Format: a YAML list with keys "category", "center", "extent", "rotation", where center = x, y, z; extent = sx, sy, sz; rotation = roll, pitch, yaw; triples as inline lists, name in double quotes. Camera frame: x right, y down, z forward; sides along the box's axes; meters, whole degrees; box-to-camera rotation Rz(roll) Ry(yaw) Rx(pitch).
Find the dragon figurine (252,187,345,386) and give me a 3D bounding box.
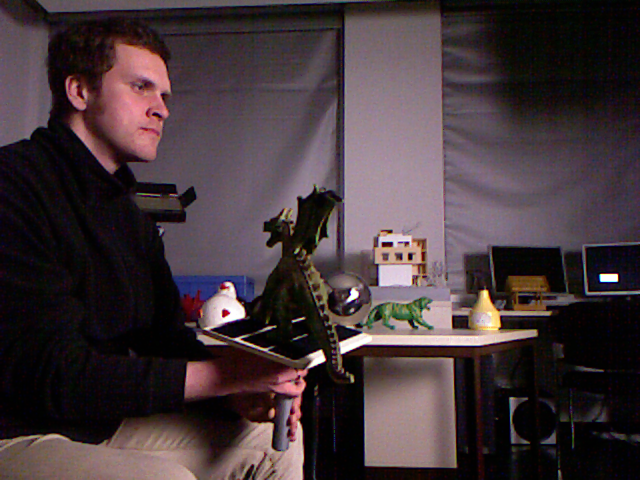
- category: "dragon figurine"
  center: [-0.024, 0.035, 0.824]
  extent: [0.122, 0.241, 0.414]
  rotation: [3, 10, -23]
